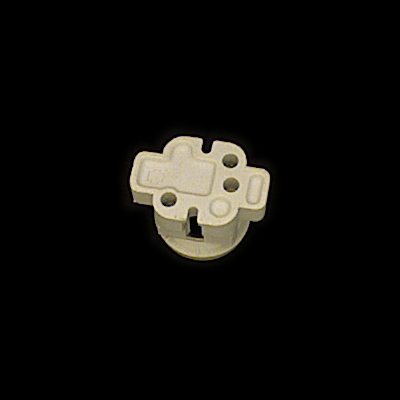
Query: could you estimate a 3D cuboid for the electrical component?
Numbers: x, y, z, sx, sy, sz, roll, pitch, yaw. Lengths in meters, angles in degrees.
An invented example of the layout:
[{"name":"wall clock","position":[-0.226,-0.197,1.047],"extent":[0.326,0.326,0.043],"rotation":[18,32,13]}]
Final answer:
[{"name":"electrical component","position":[0.000,0.000,0.635],"extent":[0.078,0.058,0.057],"rotation":[8,-25,5]}]
